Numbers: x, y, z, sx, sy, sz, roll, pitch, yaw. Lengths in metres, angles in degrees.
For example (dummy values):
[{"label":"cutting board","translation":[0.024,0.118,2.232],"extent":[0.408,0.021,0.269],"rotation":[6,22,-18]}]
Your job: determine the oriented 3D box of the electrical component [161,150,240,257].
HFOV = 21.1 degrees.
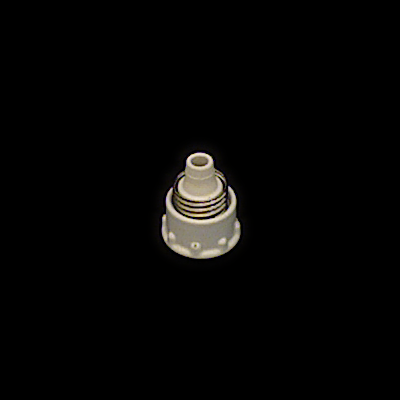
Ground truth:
[{"label":"electrical component","translation":[0.000,0.000,0.638],"extent":[0.048,0.062,0.047],"rotation":[0,41,1]}]
